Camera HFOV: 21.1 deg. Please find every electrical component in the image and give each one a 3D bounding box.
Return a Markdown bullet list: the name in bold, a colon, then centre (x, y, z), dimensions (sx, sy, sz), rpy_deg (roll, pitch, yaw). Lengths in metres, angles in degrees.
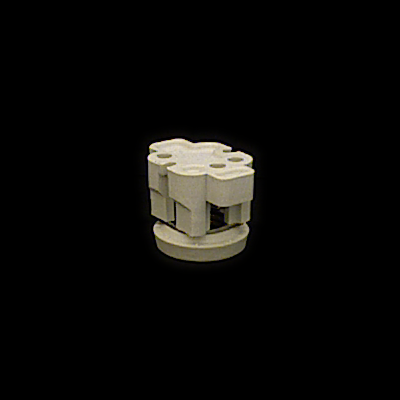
- **electrical component**: centre (0.000, 0.000, 0.647), dimensions (0.058, 0.057, 0.077), rpy_deg (-16, 26, -34)
